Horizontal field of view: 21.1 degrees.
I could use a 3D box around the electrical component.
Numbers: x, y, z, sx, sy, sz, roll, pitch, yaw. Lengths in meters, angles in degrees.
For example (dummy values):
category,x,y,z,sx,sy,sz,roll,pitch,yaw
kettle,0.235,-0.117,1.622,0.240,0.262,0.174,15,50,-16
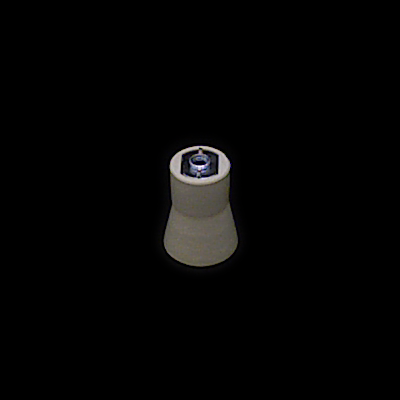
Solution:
category,x,y,z,sx,sy,sz,roll,pitch,yaw
electrical component,0.000,0.000,0.630,0.044,0.066,0.044,0,42,1
